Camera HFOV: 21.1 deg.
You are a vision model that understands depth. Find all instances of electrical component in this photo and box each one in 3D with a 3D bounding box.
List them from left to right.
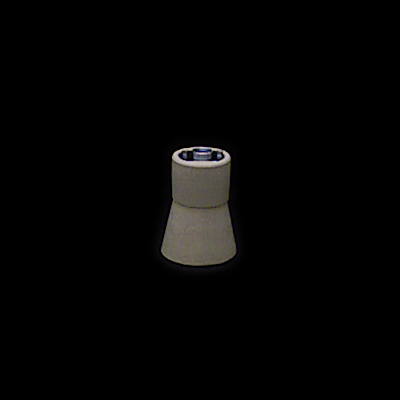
[{"bbox_3d":[0.000,0.000,0.636,0.044,0.066,0.044,1,22,0],"label":"electrical component"}]
